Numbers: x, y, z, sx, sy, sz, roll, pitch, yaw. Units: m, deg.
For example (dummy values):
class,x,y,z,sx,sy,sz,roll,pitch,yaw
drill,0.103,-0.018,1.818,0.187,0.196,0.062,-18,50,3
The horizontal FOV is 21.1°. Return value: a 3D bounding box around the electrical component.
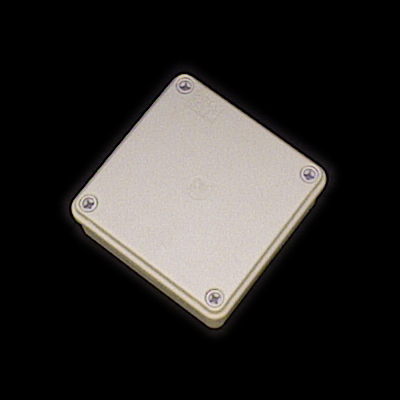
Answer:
class,x,y,z,sx,sy,sz,roll,pitch,yaw
electrical component,0.000,0.000,0.629,0.109,0.109,0.056,36,-13,10
